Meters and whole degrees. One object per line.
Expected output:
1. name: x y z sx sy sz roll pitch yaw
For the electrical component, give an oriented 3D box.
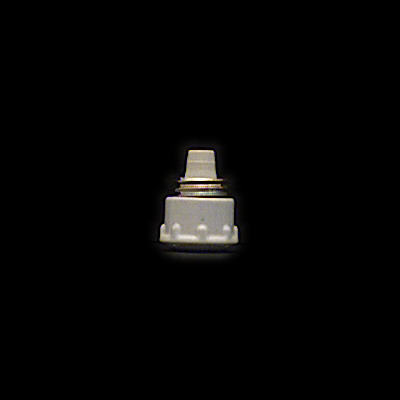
1. electrical component: 0.000 0.000 0.655 0.048 0.062 0.048 1 3 0
